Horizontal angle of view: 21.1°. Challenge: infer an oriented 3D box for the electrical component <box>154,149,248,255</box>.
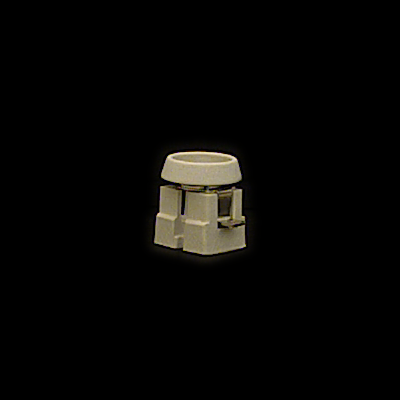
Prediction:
[{"bbox_3d":[0.000,0.000,0.652,0.065,0.056,0.048,12,18,42],"label":"electrical component"}]
